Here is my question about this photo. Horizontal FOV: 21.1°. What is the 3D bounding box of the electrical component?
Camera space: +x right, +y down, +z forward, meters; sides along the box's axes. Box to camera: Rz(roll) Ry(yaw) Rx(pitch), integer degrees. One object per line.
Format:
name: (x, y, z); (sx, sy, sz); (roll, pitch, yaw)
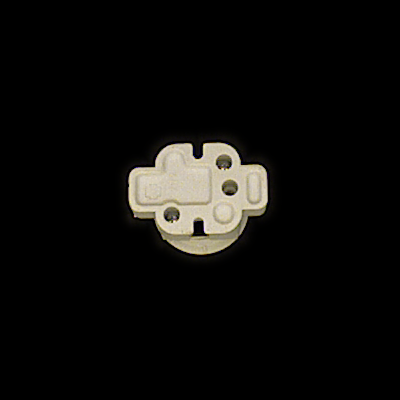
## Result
electrical component: (0.000, 0.000, 0.635); (0.078, 0.058, 0.056); (-2, -16, 1)
